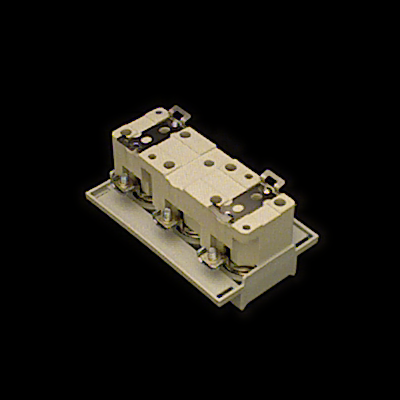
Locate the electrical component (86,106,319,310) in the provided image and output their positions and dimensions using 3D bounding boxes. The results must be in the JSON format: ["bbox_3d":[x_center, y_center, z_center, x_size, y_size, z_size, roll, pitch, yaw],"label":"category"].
[{"bbox_3d":[0.000,0.000,0.636,0.079,0.063,0.120,-32,51,-30],"label":"electrical component"}]
